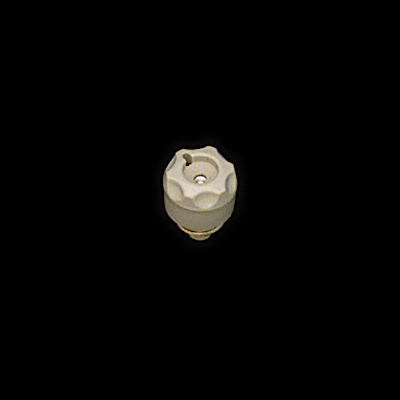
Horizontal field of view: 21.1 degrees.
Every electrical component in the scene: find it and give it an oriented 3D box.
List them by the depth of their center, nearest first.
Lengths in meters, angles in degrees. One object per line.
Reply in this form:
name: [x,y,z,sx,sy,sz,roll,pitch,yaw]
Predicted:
electrical component: [0.000,0.000,0.635,0.043,0.043,0.062,0,-37,-1]
